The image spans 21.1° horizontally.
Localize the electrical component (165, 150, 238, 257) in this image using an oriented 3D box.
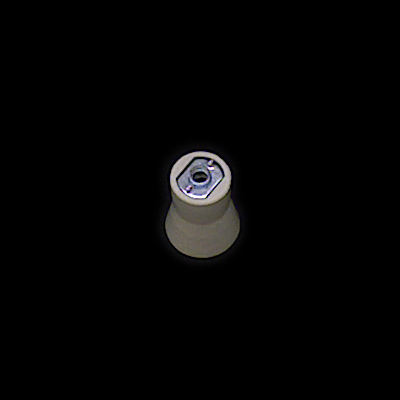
[{"bbox_3d":[0.000,0.000,0.625,0.044,0.044,0.065,0,-28,1],"label":"electrical component"}]
